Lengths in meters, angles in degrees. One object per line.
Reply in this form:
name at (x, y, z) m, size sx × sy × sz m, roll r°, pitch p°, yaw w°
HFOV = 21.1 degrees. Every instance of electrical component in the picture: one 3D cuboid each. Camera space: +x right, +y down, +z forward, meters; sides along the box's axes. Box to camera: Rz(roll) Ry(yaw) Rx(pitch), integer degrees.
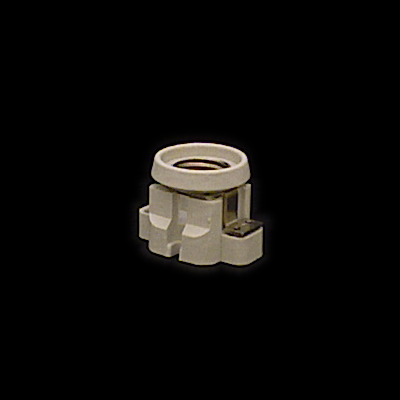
electrical component at (0.000, 0.000, 0.639) m, size 0.078 × 0.057 × 0.057 m, roll 15°, pitch 25°, yaw 32°
